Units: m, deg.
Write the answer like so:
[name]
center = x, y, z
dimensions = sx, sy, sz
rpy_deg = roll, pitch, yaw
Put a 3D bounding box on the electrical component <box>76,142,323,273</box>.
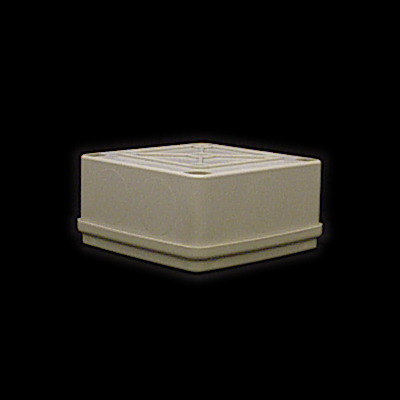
[electrical component]
center = 0.000, 0.000, 0.642
dimensions = 0.108, 0.056, 0.108
rpy_deg = -9, 15, -43
